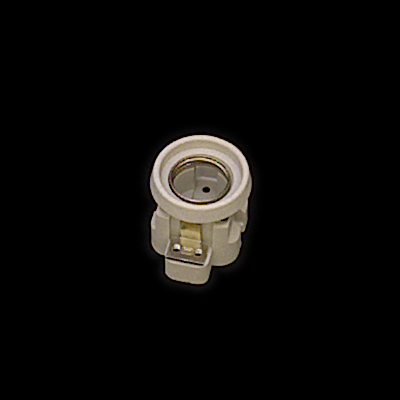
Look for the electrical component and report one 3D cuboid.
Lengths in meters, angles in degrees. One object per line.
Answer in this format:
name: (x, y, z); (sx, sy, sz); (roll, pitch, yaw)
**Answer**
electrical component: (0.000, 0.000, 0.628); (0.058, 0.078, 0.057); (11, -37, 7)
